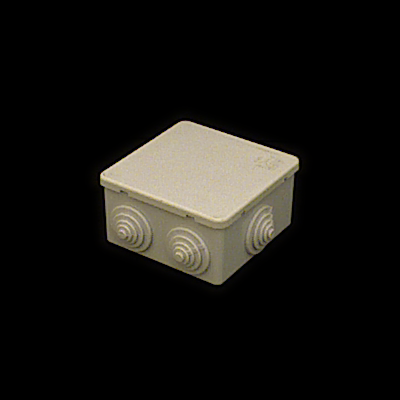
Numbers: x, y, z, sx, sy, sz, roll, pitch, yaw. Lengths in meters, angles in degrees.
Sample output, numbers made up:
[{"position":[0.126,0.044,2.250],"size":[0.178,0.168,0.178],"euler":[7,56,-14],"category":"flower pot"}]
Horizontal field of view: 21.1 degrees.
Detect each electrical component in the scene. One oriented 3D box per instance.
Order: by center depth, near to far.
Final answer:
[{"position":[0.000,0.000,0.646],"size":[0.098,0.049,0.100],"euler":[21,37,28],"category":"electrical component"}]
